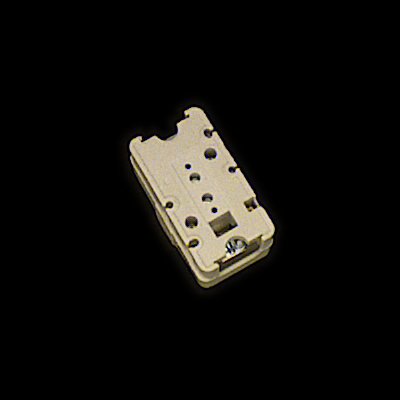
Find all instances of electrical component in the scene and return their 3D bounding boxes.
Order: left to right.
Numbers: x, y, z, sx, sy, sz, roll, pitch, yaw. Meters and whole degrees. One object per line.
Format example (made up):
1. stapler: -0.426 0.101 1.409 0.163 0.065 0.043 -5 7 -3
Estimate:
1. electrical component: 0.000 0.000 0.636 0.050 0.089 0.055 -29 -14 -8
